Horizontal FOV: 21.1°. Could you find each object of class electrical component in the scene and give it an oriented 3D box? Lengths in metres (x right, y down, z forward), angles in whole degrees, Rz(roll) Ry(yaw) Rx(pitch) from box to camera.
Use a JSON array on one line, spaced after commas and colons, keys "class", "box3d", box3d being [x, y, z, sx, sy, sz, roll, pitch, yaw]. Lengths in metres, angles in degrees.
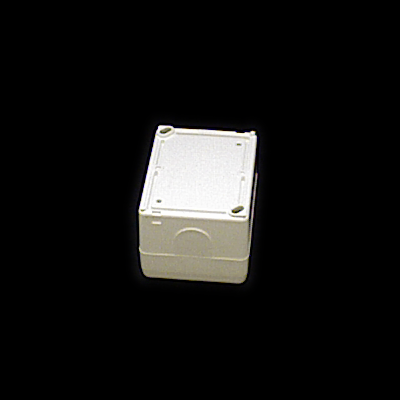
[{"class": "electrical component", "box3d": [0.000, 0.000, 0.636, 0.062, 0.062, 0.095, 4, 42, 4]}]
